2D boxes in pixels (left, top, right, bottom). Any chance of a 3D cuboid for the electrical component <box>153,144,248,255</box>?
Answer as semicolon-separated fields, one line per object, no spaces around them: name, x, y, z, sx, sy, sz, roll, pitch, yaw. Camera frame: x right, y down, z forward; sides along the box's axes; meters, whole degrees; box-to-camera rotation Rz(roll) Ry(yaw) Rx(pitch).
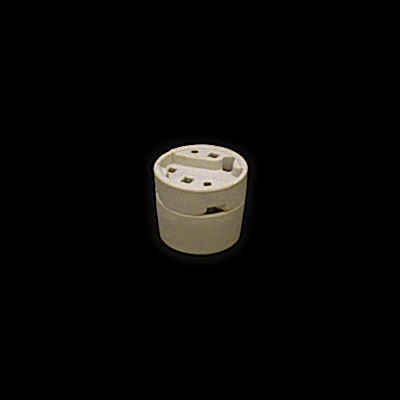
electrical component;0.000;0.000;0.638;0.055;0.047;0.055;1;31;0
